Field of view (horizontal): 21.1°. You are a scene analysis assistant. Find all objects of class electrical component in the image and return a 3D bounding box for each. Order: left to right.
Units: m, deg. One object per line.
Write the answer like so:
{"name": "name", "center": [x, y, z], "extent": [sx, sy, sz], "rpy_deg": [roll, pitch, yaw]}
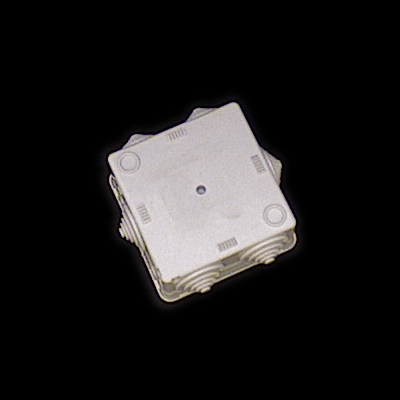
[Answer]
{"name": "electrical component", "center": [0.000, 0.000, 0.631], "extent": [0.100, 0.100, 0.048], "rpy_deg": [-23, -15, -7]}
